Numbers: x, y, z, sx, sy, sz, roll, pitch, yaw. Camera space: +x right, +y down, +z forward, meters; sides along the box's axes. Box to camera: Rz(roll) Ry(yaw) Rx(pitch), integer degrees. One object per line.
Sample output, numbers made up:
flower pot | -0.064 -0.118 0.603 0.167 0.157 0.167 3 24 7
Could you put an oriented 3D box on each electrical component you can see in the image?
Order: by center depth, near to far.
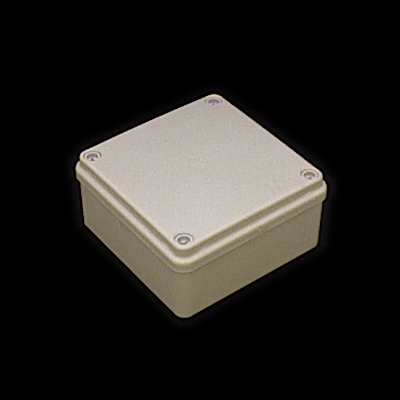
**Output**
electrical component | 0.000 0.000 0.632 0.109 0.056 0.107 -27 48 -27
